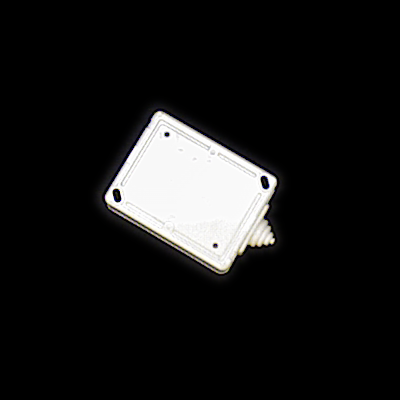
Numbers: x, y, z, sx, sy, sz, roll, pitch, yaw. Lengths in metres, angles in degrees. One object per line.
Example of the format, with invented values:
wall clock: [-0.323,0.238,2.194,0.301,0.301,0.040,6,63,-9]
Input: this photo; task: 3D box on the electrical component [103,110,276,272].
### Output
electrical component: [0.000,0.000,0.626,0.096,0.062,0.061,30,-6,4]
